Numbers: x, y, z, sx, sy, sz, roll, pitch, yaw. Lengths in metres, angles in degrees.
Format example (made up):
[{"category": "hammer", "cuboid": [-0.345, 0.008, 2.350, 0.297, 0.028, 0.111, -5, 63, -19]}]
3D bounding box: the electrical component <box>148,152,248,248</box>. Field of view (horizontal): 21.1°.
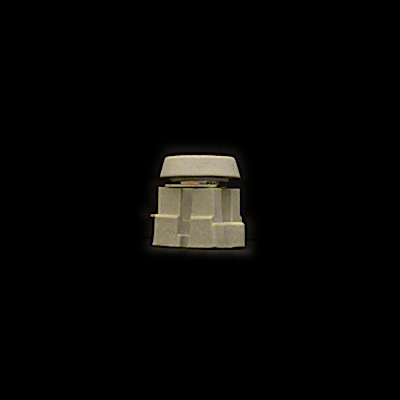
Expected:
[{"category": "electrical component", "cuboid": [0.000, 0.000, 0.656, 0.066, 0.055, 0.049, 2, 0, 30]}]
